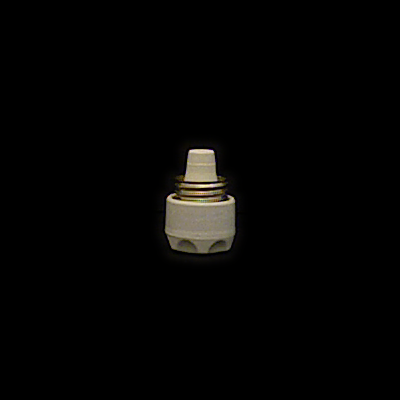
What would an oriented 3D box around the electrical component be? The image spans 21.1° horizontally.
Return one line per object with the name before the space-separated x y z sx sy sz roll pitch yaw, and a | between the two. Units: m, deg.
electrical component | 0.000 0.000 0.652 0.043 0.062 0.043 1 11 0
